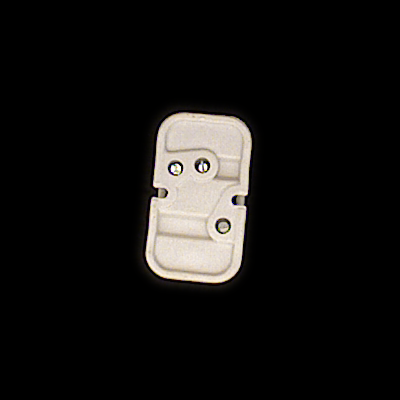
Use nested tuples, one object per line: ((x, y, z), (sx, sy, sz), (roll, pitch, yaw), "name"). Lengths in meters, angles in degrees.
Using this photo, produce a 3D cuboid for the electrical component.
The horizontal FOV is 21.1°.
((0.000, 0.000, 0.636), (0.054, 0.095, 0.059), (5, -5, 1), "electrical component")
